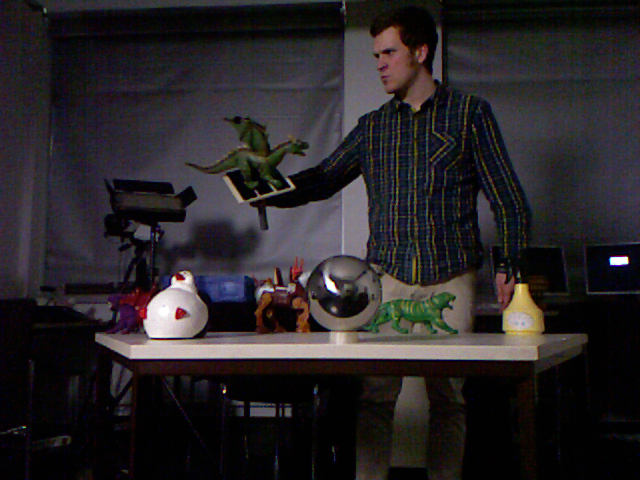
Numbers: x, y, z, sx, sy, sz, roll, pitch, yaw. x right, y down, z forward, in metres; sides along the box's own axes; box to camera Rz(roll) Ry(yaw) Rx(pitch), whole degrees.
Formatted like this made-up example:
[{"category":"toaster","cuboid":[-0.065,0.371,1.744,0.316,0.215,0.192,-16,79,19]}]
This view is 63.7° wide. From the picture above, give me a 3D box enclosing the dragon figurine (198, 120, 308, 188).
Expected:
[{"category":"dragon figurine","cuboid":[-0.242,-0.302,1.738,0.410,0.237,0.125,6,40,10]}]
